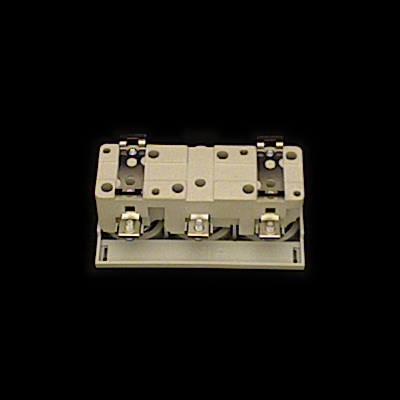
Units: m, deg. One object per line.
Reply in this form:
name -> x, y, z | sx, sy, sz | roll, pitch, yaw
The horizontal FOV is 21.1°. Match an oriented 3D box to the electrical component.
electrical component -> 0.000, 0.000, 0.637 | 0.121, 0.078, 0.063 | 1, -38, 0
